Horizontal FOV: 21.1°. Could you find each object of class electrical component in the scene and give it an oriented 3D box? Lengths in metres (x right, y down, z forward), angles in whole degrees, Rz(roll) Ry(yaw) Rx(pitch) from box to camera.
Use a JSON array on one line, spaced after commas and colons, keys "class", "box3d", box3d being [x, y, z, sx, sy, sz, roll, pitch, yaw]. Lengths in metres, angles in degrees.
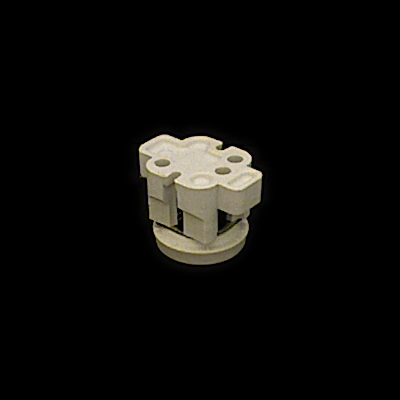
[{"class": "electrical component", "box3d": [0.000, 0.000, 0.642, 0.077, 0.057, 0.058, 22, 39, 32]}]
